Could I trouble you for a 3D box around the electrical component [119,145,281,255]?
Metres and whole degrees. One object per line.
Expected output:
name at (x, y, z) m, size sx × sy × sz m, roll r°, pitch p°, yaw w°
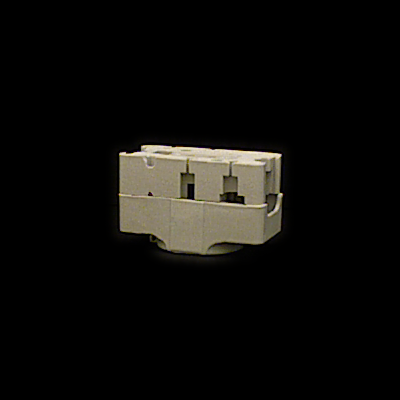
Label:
electrical component at (0.000, 0.000, 0.650) m, size 0.089 × 0.056 × 0.050 m, roll 4°, pitch 13°, yaw 18°
